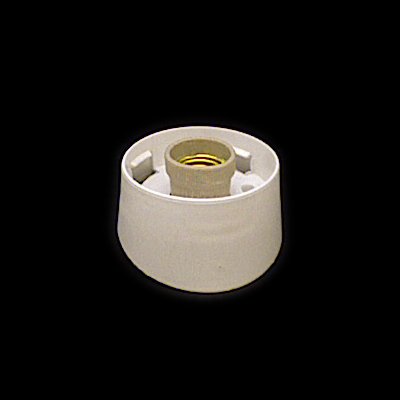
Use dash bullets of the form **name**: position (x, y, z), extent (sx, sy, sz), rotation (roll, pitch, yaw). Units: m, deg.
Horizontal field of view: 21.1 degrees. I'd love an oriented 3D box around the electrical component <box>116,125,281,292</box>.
- **electrical component**: position (0.000, 0.000, 0.634), extent (0.099, 0.065, 0.097), rotation (1, 32, 0)
